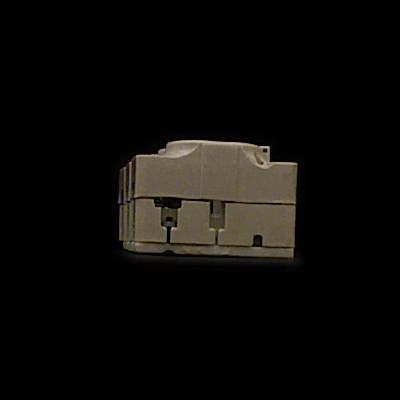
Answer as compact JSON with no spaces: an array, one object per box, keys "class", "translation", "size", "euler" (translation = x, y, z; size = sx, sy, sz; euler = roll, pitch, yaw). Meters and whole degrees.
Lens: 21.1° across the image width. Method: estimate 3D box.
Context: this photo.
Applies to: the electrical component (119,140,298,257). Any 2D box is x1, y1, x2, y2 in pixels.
[{"class":"electrical component","translation":[0.000,0.000,0.657],"size":[0.089,0.062,0.150],"euler":[2,0,-8]}]
